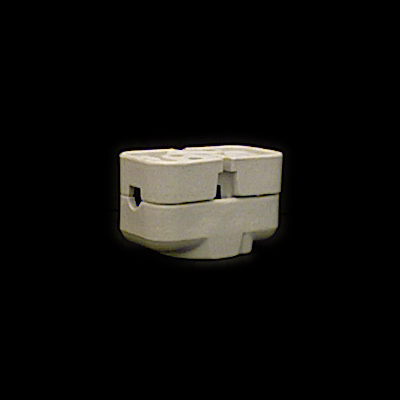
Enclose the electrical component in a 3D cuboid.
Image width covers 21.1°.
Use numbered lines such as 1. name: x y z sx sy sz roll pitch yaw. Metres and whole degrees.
1. electrical component: 0.000 0.000 0.651 0.096 0.060 0.053 -6 13 -34
